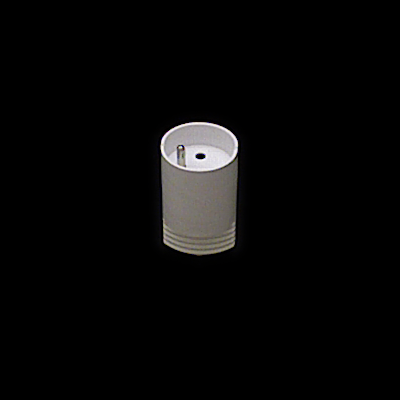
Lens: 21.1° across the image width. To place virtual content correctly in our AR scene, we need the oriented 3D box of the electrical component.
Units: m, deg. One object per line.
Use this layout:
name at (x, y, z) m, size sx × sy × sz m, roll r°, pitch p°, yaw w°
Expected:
electrical component at (0.000, 0.000, 0.621) m, size 0.043 × 0.082 × 0.042 m, roll 0°, pitch 41°, yaw 0°
